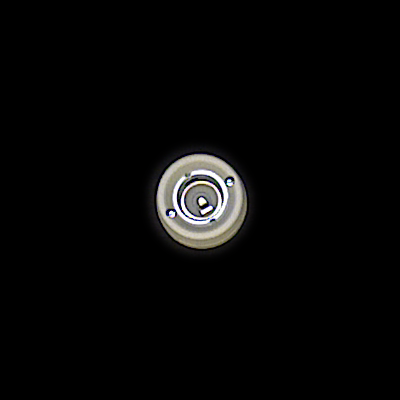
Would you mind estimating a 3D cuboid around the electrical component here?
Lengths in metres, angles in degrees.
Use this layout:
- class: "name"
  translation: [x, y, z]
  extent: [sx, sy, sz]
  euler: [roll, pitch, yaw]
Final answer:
- class: "electrical component"
  translation: [0.000, 0.000, 0.634]
  extent: [0.055, 0.055, 0.047]
  euler: [0, -7, 2]
